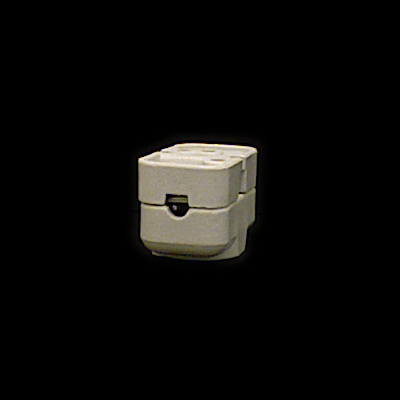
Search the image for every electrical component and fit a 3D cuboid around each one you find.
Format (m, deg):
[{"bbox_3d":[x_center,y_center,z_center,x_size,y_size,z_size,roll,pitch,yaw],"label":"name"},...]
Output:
[{"bbox_3d":[0.000,0.000,0.650,0.053,0.060,0.095,4,12,15],"label":"electrical component"}]
